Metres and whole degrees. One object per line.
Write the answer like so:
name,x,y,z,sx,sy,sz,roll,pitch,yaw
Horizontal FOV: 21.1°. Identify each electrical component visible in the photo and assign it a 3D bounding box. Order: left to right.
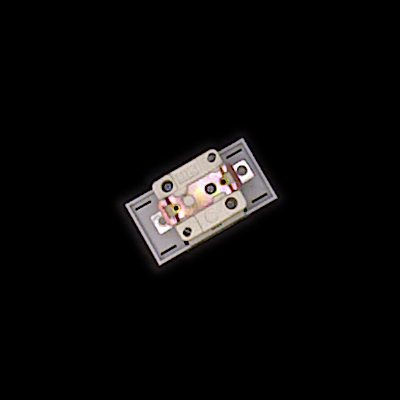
electrical component,0.000,0.000,0.626,0.081,0.042,0.063,-30,-5,-3
